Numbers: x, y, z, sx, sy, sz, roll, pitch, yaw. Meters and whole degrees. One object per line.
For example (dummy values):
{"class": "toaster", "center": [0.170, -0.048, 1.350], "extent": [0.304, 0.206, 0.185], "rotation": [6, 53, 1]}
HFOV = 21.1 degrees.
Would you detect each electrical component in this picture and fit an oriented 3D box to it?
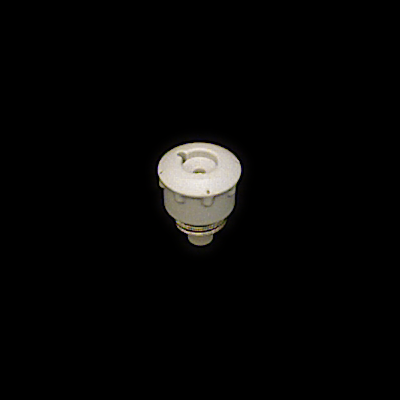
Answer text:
{"class": "electrical component", "center": [0.000, 0.000, 0.636], "extent": [0.048, 0.062, 0.048], "rotation": [1, 42, 0]}
